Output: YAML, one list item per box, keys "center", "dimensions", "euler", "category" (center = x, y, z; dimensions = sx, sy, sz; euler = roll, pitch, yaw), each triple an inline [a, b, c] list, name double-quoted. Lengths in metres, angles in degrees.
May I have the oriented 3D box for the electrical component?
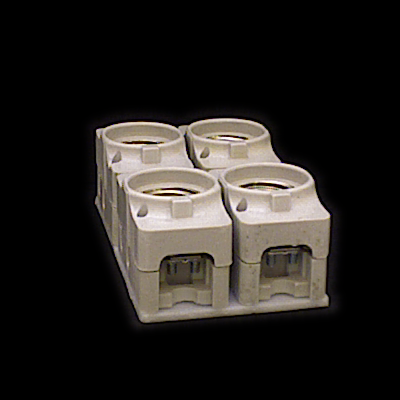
- center: [0.000, 0.000, 0.638]
  dimensions: [0.105, 0.061, 0.183]
  euler: [-3, 21, -12]
  category: "electrical component"
